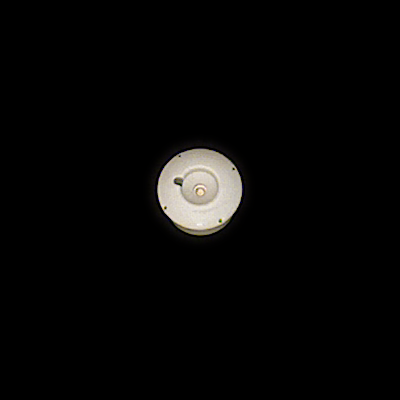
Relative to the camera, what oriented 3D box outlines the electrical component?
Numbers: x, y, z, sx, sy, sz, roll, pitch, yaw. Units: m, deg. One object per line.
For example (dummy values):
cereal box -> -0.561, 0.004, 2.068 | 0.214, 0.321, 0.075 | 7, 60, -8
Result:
electrical component -> 0.000, 0.000, 0.633 | 0.048, 0.048, 0.061 | 0, -16, 1
